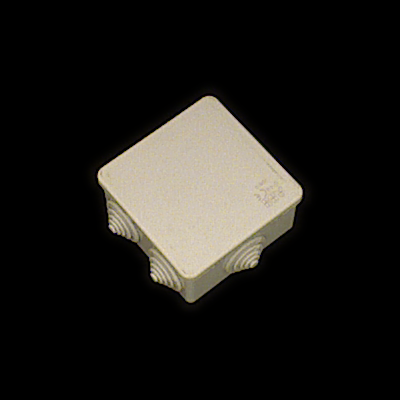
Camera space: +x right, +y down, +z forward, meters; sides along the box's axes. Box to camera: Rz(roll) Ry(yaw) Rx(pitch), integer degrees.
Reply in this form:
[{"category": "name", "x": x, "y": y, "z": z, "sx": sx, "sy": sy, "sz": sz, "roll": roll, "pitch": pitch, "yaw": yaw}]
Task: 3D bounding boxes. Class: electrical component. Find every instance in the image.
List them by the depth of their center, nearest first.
[{"category": "electrical component", "x": 0.000, "y": 0.000, "z": 0.640, "sx": 0.100, "sy": 0.099, "sz": 0.048, "roll": -36, "pitch": -21, "yaw": -17}]
